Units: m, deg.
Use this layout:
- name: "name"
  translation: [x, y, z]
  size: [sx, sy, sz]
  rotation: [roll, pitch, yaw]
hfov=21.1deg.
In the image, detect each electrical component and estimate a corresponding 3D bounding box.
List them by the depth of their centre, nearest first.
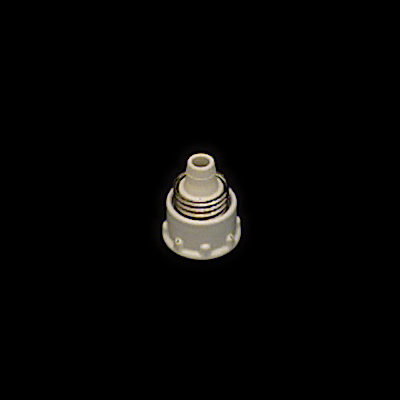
- name: "electrical component"
  translation: [0.000, 0.000, 0.638]
  size: [0.048, 0.062, 0.047]
  rotation: [1, 41, 0]
